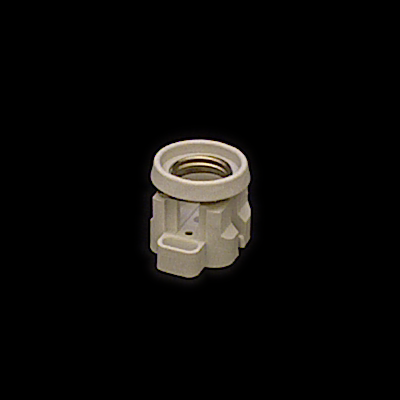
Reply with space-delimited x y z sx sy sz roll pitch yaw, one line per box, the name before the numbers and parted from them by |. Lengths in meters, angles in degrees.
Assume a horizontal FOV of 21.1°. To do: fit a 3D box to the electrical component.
electrical component | 0.000 0.000 0.637 0.057 0.057 0.078 13 33 19
